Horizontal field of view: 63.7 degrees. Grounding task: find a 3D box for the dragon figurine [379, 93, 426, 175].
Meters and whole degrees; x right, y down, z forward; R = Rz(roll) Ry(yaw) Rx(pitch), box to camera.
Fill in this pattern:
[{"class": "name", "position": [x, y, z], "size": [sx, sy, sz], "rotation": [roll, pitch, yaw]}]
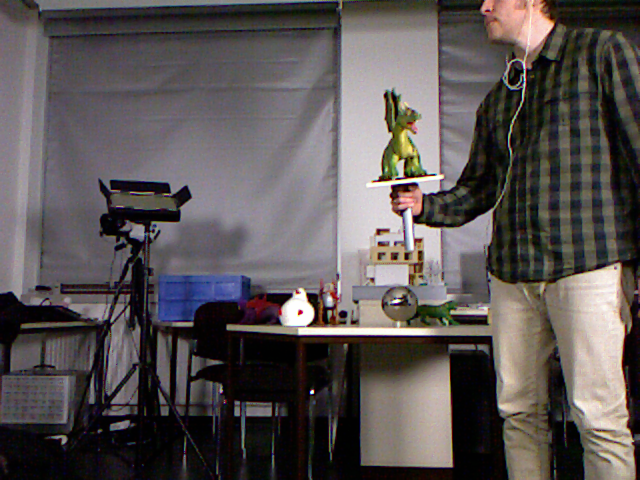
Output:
[{"class": "dragon figurine", "position": [0.214, -0.303, 1.481], "size": [0.122, 0.241, 0.412], "rotation": [-10, 8, -7]}]
